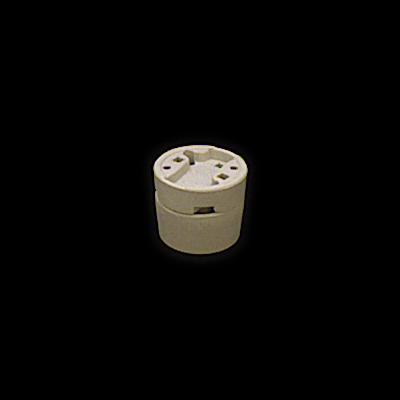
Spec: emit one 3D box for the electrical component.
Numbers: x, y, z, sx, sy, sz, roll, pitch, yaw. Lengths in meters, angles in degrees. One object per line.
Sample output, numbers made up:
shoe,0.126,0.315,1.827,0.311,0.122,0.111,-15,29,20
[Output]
electrical component,0.000,0.000,0.640,0.055,0.047,0.055,1,32,0
